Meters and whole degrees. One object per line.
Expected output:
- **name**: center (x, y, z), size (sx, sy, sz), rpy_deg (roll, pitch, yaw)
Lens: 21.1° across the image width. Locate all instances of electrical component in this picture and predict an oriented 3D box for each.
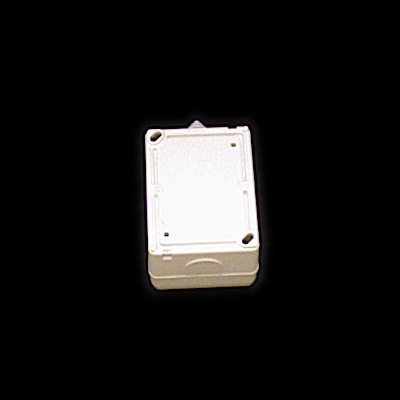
- **electrical component**: center (0.000, 0.000, 0.628), size (0.062, 0.096, 0.061), rpy_deg (-2, -28, -2)
